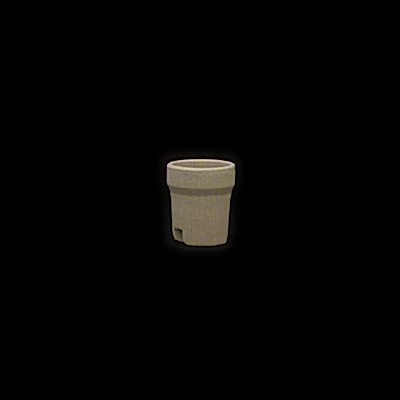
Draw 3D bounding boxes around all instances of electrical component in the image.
[{"bbox_3d":[0.000,0.000,0.644,0.040,0.046,0.040,1,11,0],"label":"electrical component"}]
